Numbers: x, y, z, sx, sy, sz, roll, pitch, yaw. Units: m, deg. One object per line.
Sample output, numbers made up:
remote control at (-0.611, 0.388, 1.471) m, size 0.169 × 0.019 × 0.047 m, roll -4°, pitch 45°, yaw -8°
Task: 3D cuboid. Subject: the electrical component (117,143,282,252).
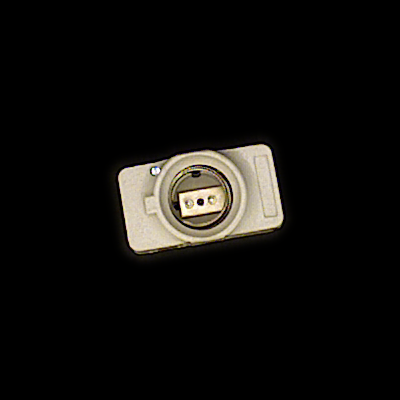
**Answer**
electrical component at (0.000, 0.000, 0.637) m, size 0.090 × 0.050 × 0.055 m, roll -10°, pitch -6°, yaw -1°
